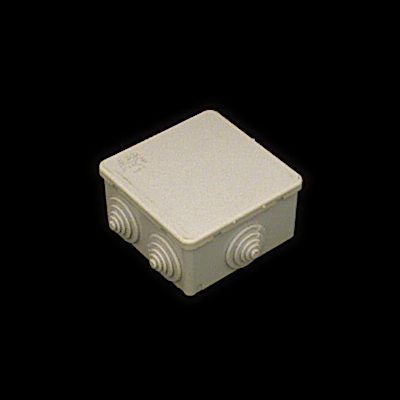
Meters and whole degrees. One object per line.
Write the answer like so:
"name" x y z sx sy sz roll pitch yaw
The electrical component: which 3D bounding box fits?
"electrical component" 0.000 0.000 0.641 0.100 0.049 0.098 -28 50 -28
